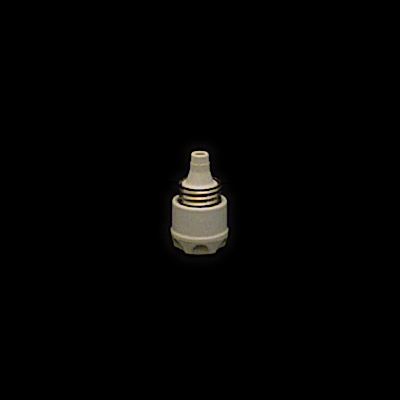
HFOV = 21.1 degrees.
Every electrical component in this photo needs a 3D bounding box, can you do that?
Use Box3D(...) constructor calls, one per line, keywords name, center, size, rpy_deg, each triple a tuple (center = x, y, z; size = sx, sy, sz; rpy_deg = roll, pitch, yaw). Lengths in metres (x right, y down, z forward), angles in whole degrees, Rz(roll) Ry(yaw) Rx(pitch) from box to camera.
Box3D(name="electrical component", center=(0.000, 0.000, 0.650), size=(0.035, 0.062, 0.035), rpy_deg=(1, 20, 0))
